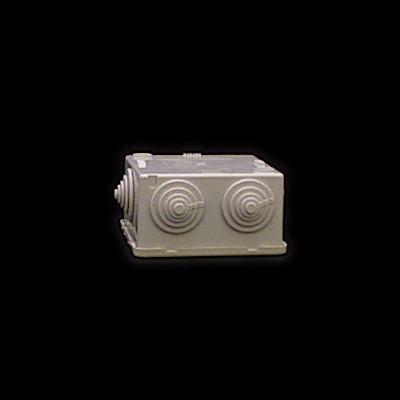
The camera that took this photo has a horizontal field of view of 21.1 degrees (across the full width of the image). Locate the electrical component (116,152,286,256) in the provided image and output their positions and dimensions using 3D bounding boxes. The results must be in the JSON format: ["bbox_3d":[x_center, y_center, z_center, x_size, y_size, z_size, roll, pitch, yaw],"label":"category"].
[{"bbox_3d":[0.000,0.000,0.644,0.100,0.049,0.099,-1,11,-10],"label":"electrical component"}]
